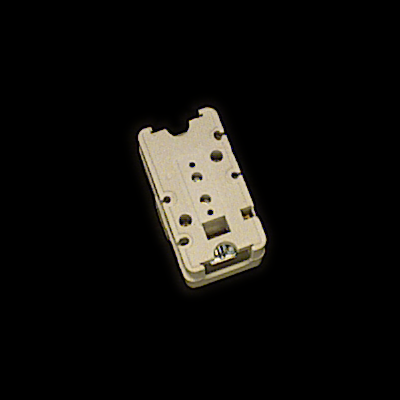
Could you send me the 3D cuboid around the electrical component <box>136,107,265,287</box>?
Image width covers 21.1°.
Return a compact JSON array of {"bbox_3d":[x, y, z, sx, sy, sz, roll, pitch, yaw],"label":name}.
[{"bbox_3d":[0.000,0.000,0.636,0.050,0.089,0.055,-19,-15,-5],"label":"electrical component"}]
